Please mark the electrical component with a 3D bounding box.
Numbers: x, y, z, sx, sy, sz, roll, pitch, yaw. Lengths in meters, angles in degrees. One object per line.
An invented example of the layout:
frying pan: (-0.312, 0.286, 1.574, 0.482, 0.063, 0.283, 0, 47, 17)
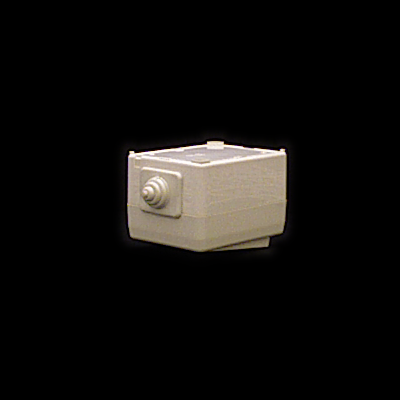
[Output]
electrical component: (0.000, 0.000, 0.645, 0.061, 0.061, 0.096, 10, 15, 41)
